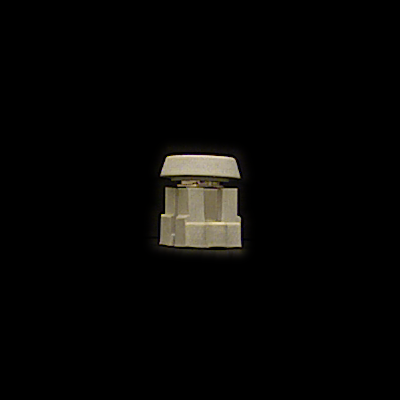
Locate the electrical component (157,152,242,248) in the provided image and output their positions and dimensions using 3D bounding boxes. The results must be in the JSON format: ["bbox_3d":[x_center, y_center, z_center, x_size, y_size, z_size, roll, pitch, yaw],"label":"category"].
[{"bbox_3d":[0.000,0.000,0.657,0.049,0.055,0.066,3,1,-25],"label":"electrical component"}]
